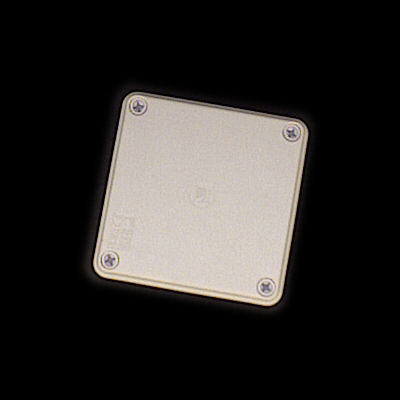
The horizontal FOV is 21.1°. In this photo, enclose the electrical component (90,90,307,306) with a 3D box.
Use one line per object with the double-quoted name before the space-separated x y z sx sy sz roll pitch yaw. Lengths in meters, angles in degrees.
"electrical component" 0.000 0.000 0.631 0.109 0.109 0.056 10 -7 1
